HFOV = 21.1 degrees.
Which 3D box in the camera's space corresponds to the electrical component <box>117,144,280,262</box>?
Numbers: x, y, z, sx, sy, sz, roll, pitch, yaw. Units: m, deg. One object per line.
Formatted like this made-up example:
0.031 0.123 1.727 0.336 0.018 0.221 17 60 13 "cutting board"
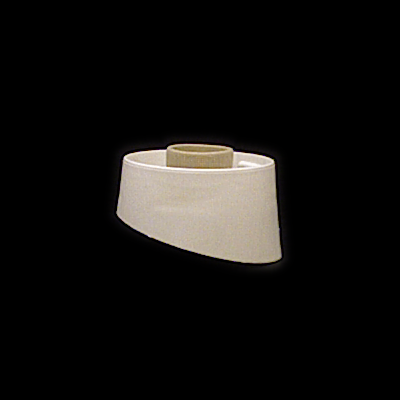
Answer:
0.000 0.000 0.643 0.099 0.064 0.098 2 10 0 "electrical component"
